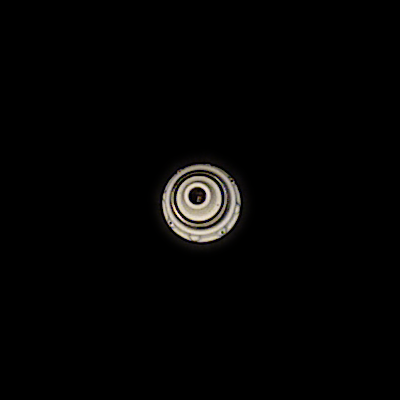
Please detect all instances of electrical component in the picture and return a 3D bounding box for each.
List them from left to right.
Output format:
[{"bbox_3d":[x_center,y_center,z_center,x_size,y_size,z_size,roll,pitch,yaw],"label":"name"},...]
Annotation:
[{"bbox_3d":[0.000,0.000,0.634,0.048,0.048,0.062,0,-6,2],"label":"electrical component"}]
